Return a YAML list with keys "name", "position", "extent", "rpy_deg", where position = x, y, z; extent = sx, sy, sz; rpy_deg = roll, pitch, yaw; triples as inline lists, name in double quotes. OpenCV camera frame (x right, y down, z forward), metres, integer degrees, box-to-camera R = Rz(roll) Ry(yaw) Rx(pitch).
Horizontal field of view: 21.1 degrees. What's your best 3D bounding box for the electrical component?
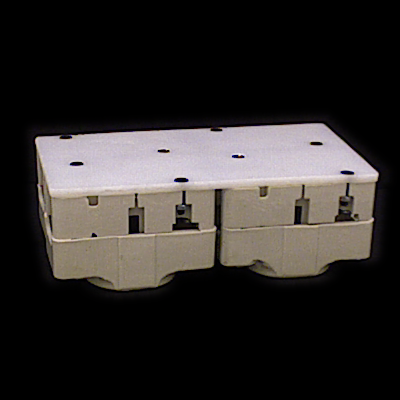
- name: "electrical component"
  position: [0.000, 0.000, 0.638]
  extent: [0.186, 0.061, 0.104]
  rpy_deg: [-3, 21, -12]
